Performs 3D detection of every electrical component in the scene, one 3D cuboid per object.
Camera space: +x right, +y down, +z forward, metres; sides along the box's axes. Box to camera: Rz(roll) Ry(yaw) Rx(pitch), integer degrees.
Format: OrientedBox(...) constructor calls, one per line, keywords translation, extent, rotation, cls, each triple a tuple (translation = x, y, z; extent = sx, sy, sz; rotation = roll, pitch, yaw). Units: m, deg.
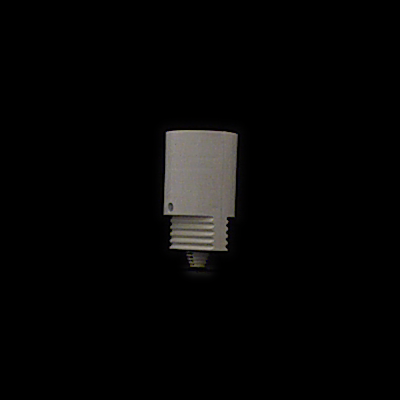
OrientedBox(translation=(0.000, 0.000, 0.650), extent=(0.043, 0.081, 0.043), rotation=(1, 2, 0), cls="electrical component")
